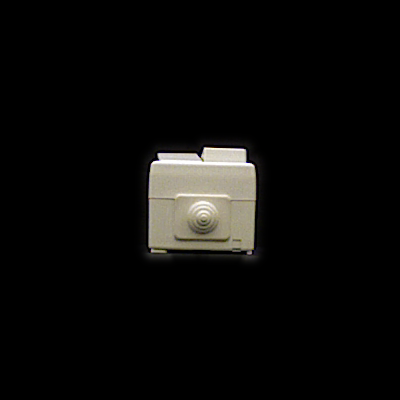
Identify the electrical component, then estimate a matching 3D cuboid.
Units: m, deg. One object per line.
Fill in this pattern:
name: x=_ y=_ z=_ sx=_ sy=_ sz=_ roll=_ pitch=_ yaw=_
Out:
electrical component: x=0.000 y=0.000 z=0.647 sx=0.062 sy=0.061 sz=0.096 roll=1 pitch=0 yaw=-3
